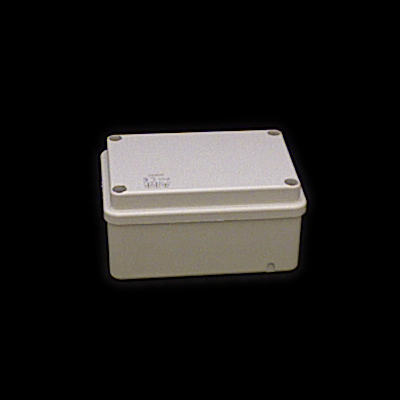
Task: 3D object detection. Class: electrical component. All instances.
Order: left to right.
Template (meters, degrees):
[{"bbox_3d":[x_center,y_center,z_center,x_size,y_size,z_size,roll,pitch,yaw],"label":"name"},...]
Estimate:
[{"bbox_3d":[0.000,0.000,0.633,0.113,0.058,0.077,-2,31,-6],"label":"electrical component"}]
